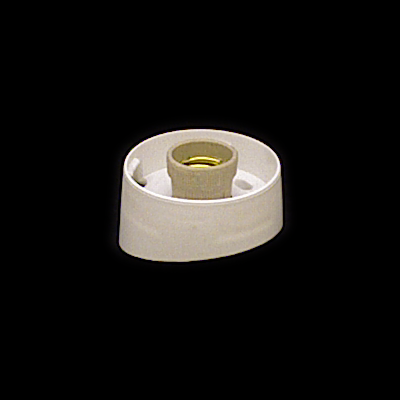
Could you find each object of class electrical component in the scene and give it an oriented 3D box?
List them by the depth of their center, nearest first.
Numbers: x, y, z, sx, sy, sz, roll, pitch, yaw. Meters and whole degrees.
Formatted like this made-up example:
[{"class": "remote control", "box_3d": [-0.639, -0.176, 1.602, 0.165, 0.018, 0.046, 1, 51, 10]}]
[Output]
[{"class": "electrical component", "box_3d": [0.000, 0.000, 0.633, 0.099, 0.065, 0.097, 1, 31, 0]}]
